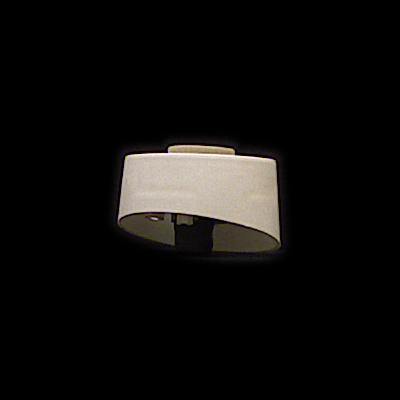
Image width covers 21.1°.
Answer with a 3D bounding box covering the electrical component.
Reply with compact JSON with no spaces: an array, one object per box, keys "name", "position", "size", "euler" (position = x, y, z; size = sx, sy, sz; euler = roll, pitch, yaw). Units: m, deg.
[{"name":"electrical component","position":[0.000,0.000,0.649],"size":[0.099,0.064,0.099],"euler":[1,0,0]}]
